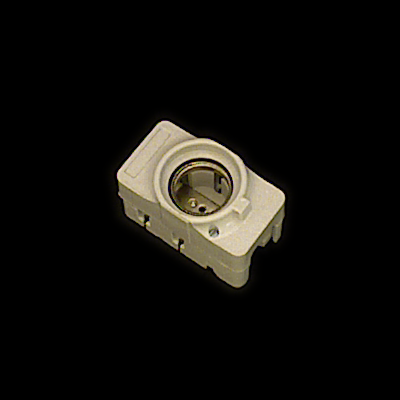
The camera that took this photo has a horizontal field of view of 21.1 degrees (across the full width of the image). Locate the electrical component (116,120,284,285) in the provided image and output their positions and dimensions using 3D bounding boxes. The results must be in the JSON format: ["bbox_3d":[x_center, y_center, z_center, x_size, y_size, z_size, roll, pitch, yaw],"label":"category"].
[{"bbox_3d":[0.000,0.000,0.635,0.089,0.050,0.055,32,-22,15],"label":"electrical component"}]
